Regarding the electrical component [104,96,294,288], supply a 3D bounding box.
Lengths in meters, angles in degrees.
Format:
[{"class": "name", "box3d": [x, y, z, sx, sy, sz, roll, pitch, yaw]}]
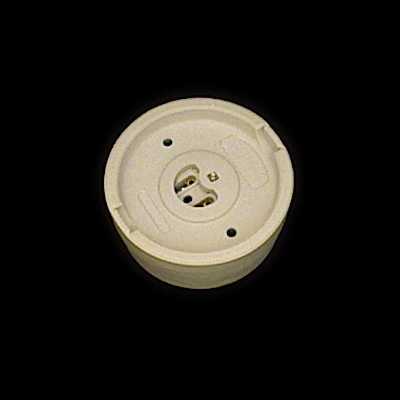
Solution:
[{"class": "electrical component", "box3d": [0.000, 0.000, 0.636, 0.108, 0.107, 0.060, 0, -27, 0]}]
